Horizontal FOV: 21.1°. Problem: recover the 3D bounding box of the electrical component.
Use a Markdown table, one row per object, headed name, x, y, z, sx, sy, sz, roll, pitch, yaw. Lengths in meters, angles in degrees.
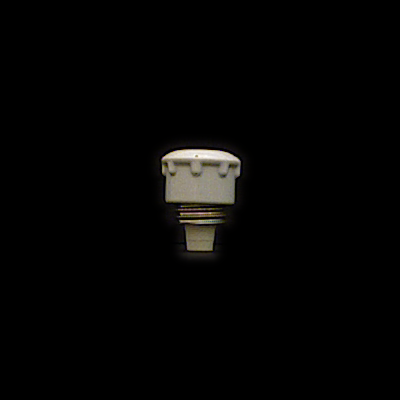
| name | x | y | z | sx | sy | sz | roll | pitch | yaw |
| --- | --- | --- | --- | --- | --- | --- | --- | --- | --- |
| electrical component | 0.000 | 0.000 | 0.655 | 0.048 | 0.062 | 0.048 | 2 | 1 | 1 |
